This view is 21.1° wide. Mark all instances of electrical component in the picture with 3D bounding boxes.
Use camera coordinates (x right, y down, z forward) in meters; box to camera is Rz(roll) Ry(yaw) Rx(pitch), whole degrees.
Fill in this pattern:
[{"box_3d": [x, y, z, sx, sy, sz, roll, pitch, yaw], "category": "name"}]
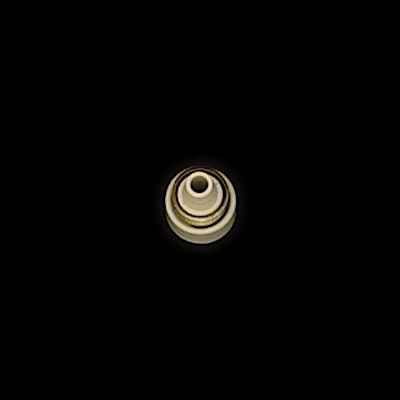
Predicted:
[{"box_3d": [0.000, 0.000, 0.634, 0.043, 0.043, 0.061, 0, -17, 0], "category": "electrical component"}]
